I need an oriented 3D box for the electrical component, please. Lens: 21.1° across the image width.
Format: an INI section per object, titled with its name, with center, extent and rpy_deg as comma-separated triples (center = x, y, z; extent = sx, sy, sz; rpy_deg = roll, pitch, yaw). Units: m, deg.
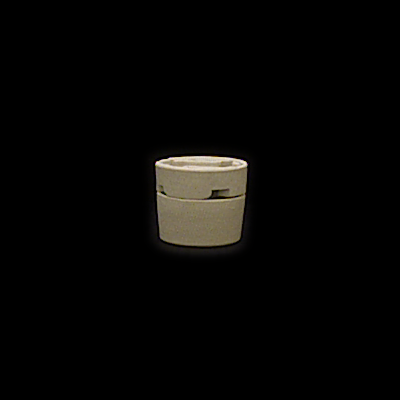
[electrical component]
center = 0.000, 0.000, 0.645
extent = 0.055, 0.047, 0.055
rpy_deg = 2, 11, 0
